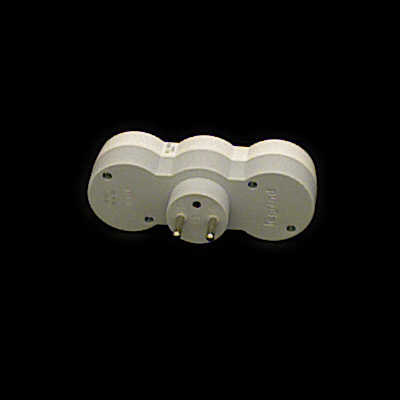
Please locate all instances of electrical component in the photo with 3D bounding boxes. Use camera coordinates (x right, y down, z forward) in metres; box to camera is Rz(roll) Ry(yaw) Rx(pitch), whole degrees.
[{"bbox_3d":[0.000,0.000,0.641,0.138,0.053,0.073,4,34,4],"label":"electrical component"}]
